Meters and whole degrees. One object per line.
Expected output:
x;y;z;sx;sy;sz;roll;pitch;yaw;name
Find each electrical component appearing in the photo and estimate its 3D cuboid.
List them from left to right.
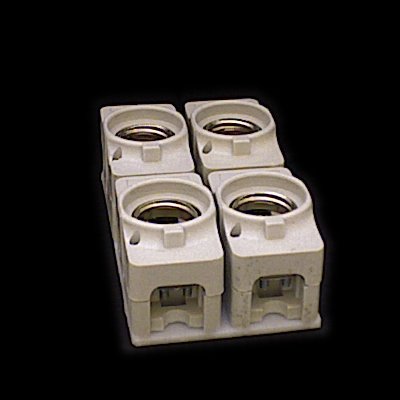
0.000;0.000;0.634;0.105;0.061;0.183;-4;32;-8;electrical component
